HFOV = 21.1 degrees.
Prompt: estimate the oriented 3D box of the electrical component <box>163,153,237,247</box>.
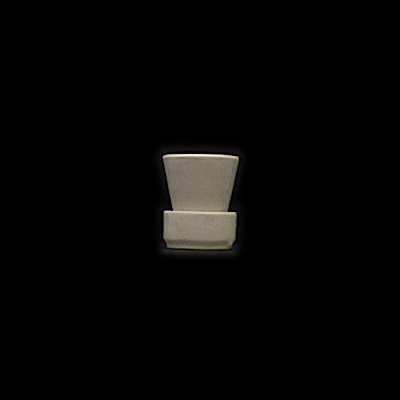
[{"bbox_3d":[0.000,0.000,0.648,0.045,0.055,0.044,1,1,0],"label":"electrical component"}]
